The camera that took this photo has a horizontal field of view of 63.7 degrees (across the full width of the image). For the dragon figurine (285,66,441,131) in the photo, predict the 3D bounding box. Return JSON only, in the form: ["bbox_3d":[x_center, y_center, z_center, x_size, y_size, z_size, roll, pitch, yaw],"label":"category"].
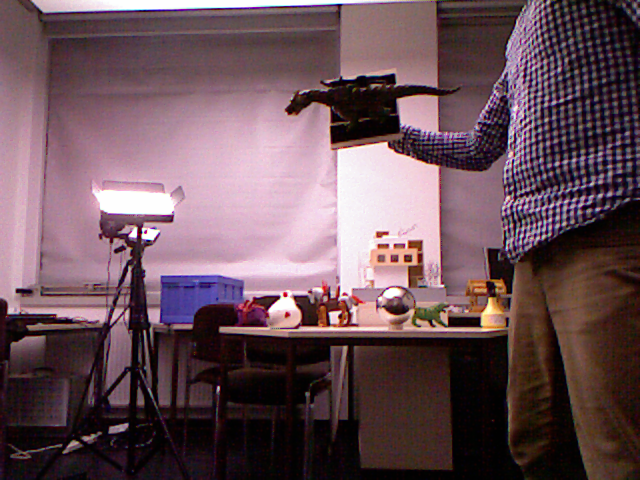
[{"bbox_3d":[0.107,-0.389,1.357,0.410,0.123,0.243,-13,-7,14],"label":"dragon figurine"}]
